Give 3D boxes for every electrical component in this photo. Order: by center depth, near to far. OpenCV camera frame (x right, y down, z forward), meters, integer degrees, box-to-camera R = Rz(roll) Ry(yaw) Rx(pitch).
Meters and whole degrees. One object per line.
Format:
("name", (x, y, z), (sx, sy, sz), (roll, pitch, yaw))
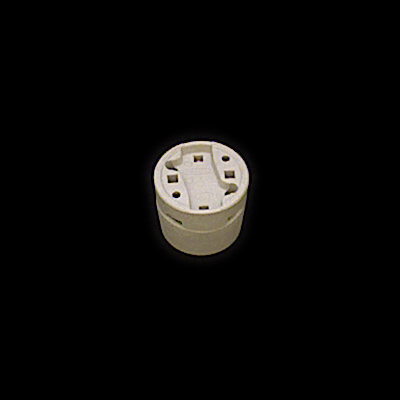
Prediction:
("electrical component", (0.000, 0.000, 0.635), (0.055, 0.055, 0.047), (0, -38, -1))
